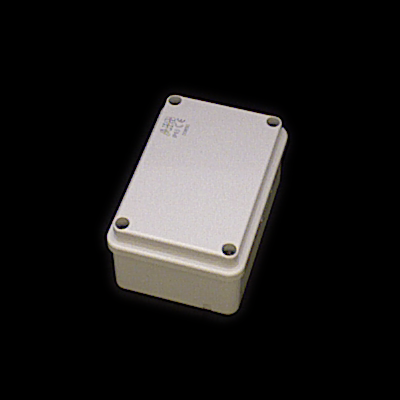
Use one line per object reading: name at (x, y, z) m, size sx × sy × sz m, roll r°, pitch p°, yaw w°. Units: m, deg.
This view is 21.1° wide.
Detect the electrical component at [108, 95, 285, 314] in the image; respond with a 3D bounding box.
electrical component at (0.000, 0.000, 0.629) m, size 0.078 × 0.113 × 0.057 m, roll 13°, pitch -36°, yaw 10°
